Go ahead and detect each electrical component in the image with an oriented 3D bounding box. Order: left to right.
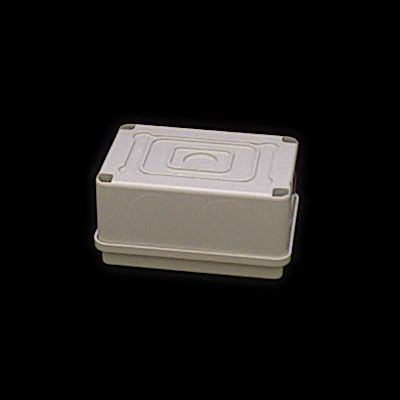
[{"bbox_3d":[0.000,0.000,0.635,0.113,0.058,0.077,5,32,7],"label":"electrical component"}]
